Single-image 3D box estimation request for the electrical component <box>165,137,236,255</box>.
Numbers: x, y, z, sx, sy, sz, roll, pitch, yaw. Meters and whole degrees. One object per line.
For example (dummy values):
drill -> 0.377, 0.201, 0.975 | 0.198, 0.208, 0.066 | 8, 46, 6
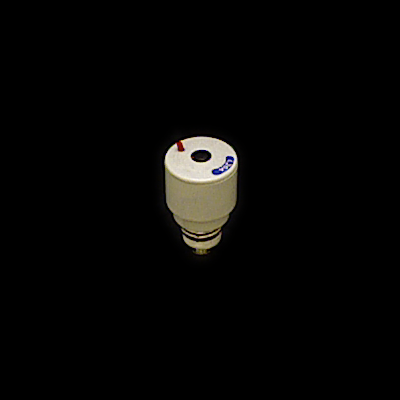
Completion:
electrical component -> 0.000, 0.000, 0.625 | 0.040, 0.079, 0.039 | 0, 41, 0
